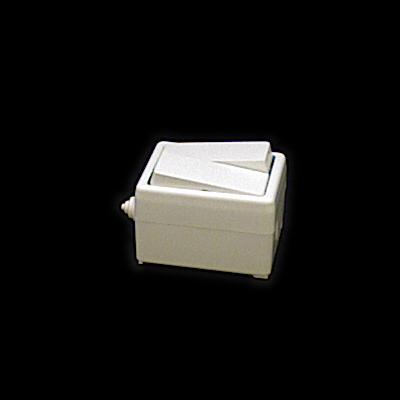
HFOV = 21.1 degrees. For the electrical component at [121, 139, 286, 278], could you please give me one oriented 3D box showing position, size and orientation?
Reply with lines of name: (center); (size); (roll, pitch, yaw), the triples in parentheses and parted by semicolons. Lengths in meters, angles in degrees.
electrical component: (0.000, 0.000, 0.635); (0.096, 0.061, 0.061); (6, 32, 9)
